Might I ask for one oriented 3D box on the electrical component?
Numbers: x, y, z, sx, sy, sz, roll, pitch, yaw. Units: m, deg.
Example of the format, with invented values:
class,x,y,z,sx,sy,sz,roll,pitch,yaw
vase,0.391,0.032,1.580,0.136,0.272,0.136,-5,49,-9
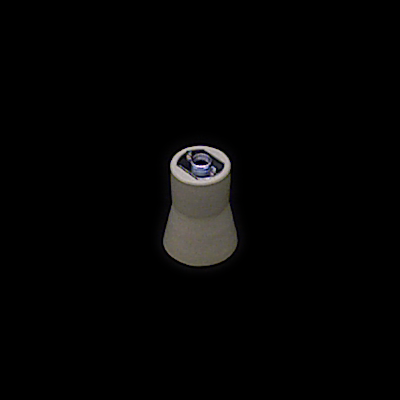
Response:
class,x,y,z,sx,sy,sz,roll,pitch,yaw
electrical component,0.000,0.000,0.629,0.044,0.066,0.044,0,43,0
